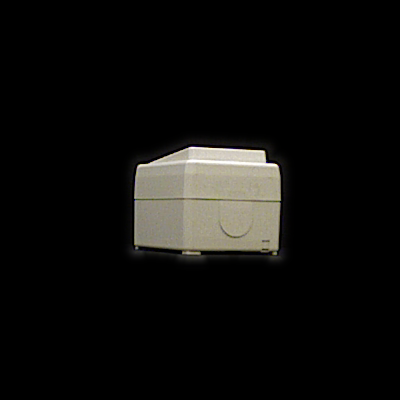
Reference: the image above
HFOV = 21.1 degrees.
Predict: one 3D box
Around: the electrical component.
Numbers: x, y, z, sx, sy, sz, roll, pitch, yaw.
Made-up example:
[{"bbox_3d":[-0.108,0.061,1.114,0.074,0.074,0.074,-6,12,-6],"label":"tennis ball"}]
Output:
[{"bbox_3d":[0.000,0.000,0.652,0.062,0.061,0.096,1,0,-26],"label":"electrical component"}]
